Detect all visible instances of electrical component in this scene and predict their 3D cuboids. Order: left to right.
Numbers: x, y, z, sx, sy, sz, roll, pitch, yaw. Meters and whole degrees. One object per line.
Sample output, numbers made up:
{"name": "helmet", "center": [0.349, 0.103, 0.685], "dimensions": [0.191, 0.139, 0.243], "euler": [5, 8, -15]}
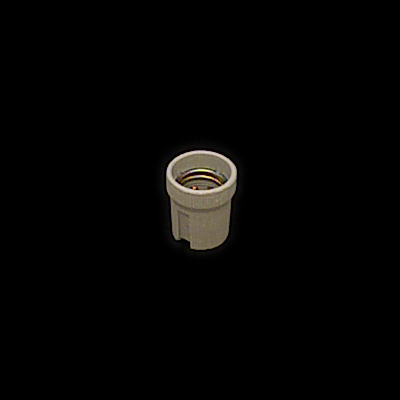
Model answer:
{"name": "electrical component", "center": [0.000, 0.000, 0.634], "dimensions": [0.040, 0.047, 0.039], "euler": [1, 42, 0]}
